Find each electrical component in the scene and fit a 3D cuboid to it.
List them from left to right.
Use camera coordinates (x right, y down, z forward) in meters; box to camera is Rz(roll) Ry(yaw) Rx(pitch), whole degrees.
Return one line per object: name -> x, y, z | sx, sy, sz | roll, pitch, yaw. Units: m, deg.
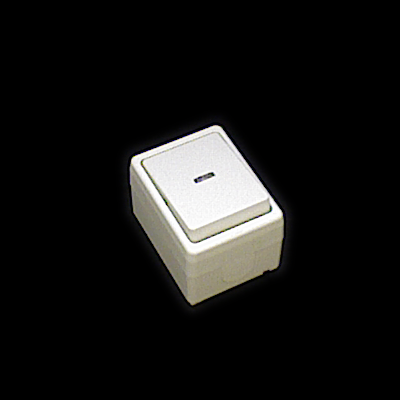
electrical component -> 0.000, 0.000, 0.629 | 0.062, 0.096, 0.061 | -22, -34, -17
